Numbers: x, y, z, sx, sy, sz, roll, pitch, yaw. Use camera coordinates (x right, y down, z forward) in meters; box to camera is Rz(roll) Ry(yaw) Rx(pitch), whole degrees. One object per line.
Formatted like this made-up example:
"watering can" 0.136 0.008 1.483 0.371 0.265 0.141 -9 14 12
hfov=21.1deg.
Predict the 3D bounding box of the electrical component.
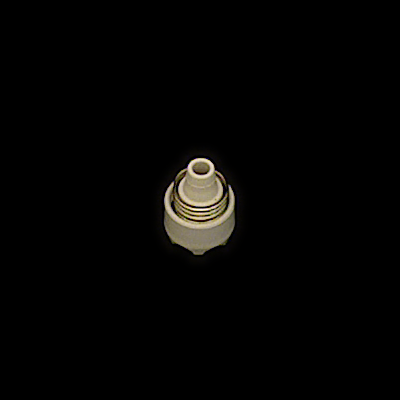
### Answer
"electrical component" 0.000 0.000 0.635 0.043 0.043 0.062 0 -38 -2
